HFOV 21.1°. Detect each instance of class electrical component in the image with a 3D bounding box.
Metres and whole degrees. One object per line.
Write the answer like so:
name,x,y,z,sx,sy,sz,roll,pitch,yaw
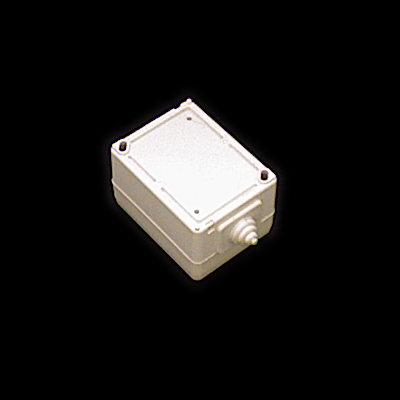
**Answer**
electrical component,0.000,0.000,0.627,0.062,0.096,0.061,-33,-30,-23
